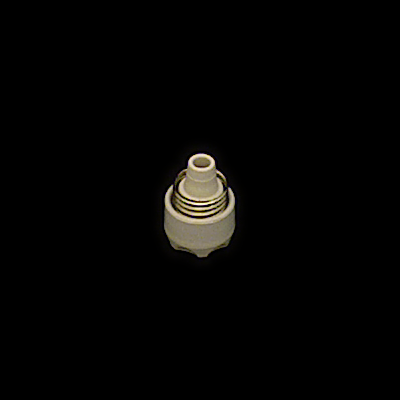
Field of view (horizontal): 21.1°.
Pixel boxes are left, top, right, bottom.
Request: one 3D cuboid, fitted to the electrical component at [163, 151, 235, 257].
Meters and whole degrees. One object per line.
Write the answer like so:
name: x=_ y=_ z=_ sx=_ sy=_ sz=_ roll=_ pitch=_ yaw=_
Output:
electrical component: x=0.000 y=0.000 z=0.637 sx=0.043 sy=0.062 sz=0.043 roll=1 pitch=43 yaw=-1
